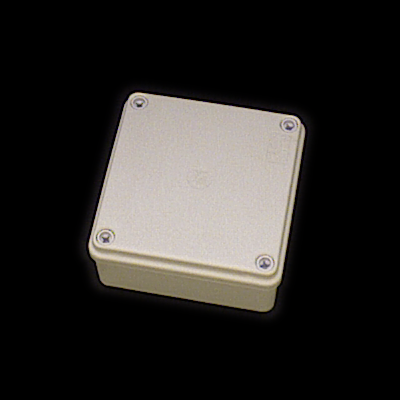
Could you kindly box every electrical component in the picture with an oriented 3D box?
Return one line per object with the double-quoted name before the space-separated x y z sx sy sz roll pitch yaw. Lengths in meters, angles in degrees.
"electrical component" 0.000 0.000 0.629 0.108 0.109 0.056 9 -27 5
